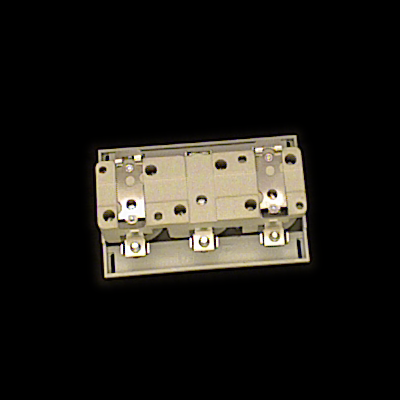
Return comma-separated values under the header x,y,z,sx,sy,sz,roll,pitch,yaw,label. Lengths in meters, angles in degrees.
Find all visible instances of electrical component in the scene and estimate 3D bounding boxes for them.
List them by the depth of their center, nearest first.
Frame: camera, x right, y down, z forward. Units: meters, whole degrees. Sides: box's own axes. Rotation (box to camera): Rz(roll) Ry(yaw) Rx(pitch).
x,y,z,sx,sy,sz,roll,pitch,yaw,label
0.000,0.000,0.634,0.121,0.079,0.063,-4,-17,-1,electrical component
